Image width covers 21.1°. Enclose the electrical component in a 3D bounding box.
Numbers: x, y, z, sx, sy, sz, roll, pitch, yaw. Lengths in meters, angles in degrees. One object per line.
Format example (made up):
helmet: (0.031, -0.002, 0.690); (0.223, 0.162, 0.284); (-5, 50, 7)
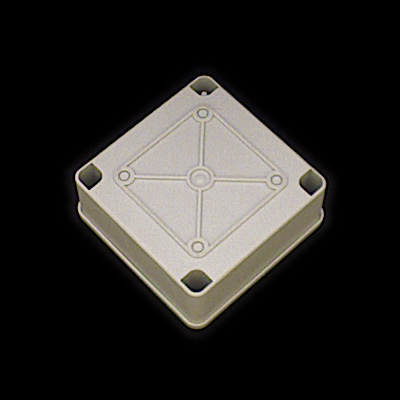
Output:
electrical component: (0.000, 0.000, 0.629); (0.109, 0.108, 0.056); (-40, -20, -19)
